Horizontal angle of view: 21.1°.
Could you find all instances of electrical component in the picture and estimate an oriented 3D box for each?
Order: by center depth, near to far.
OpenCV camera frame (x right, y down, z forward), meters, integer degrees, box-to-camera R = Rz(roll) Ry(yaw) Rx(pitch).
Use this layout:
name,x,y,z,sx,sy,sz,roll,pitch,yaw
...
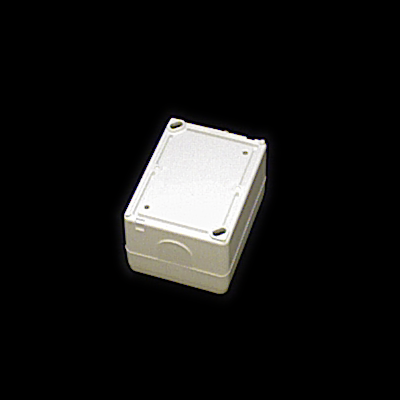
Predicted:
name,x,y,z,sx,sy,sz,roll,pitch,yaw
electrical component,0.001,0.000,0.633,0.061,0.095,0.061,14,-37,11
